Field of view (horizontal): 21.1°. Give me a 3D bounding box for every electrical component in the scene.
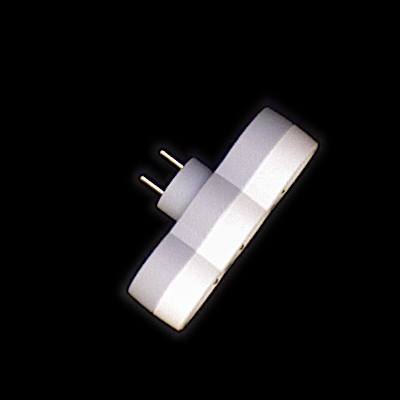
[{"bbox_3d":[0.000,0.000,0.631,0.074,0.138,0.052,36,-5,6],"label":"electrical component"}]
